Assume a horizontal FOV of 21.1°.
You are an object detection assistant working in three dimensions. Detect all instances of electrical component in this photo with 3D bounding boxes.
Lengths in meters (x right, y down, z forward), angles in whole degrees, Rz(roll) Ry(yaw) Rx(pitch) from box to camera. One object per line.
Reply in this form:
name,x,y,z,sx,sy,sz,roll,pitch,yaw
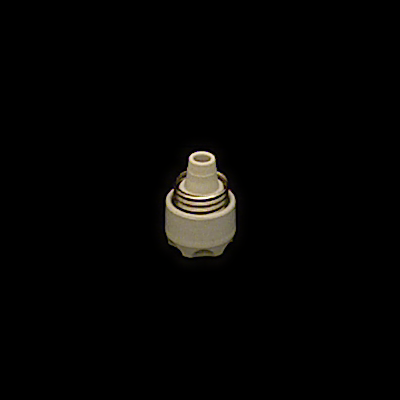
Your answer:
electrical component,0.000,0.000,0.640,0.043,0.063,0.043,1,34,0
